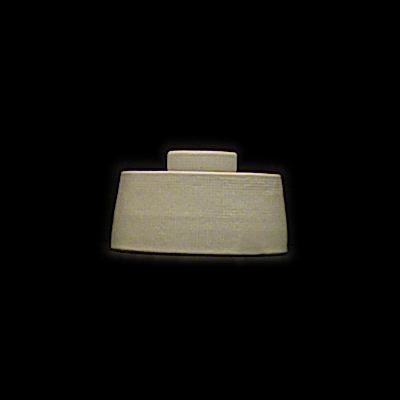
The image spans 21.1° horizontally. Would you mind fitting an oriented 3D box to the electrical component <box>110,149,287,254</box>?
[{"bbox_3d":[0.000,0.000,0.656,0.108,0.060,0.108,1,1,0],"label":"electrical component"}]
